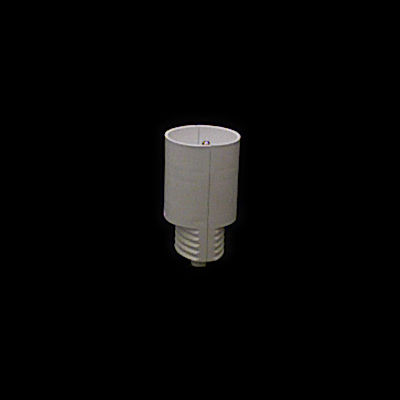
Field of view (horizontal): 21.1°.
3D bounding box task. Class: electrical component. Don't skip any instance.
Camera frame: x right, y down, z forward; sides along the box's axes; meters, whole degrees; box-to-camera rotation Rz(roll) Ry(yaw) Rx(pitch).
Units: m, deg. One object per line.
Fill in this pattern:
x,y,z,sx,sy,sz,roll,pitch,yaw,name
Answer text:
0.000,0.000,0.634,0.043,0.082,0.042,0,22,0,electrical component
